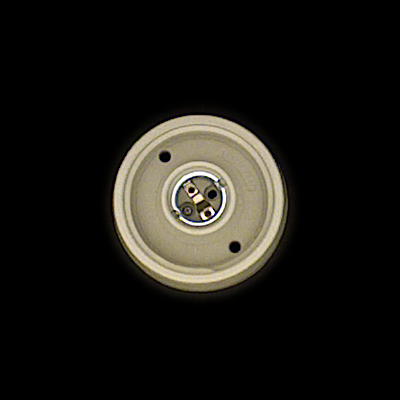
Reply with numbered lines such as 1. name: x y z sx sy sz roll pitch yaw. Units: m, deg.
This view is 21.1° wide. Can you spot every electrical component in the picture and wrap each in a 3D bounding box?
1. electrical component: 0.000 0.000 0.635 0.108 0.108 0.060 0 -6 0
